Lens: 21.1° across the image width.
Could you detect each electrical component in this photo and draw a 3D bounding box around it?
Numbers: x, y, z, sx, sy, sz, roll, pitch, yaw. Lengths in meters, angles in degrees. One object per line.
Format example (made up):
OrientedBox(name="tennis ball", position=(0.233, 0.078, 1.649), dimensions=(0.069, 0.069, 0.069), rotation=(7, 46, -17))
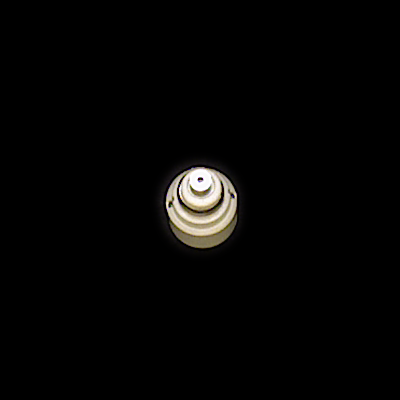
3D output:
OrientedBox(name="electrical component", position=(0.000, 0.000, 0.617), dimensions=(0.040, 0.040, 0.078), rotation=(0, -16, 1))
